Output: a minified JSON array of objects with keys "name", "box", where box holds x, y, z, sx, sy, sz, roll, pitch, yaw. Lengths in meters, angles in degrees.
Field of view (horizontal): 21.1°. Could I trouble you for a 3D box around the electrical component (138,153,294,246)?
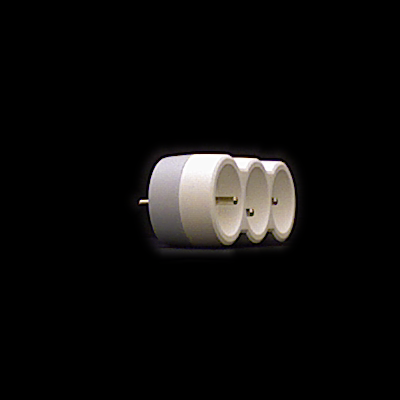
[{"name":"electrical component","box":[0.000,0.000,0.647,0.073,0.052,0.138,-1,0,24]}]
